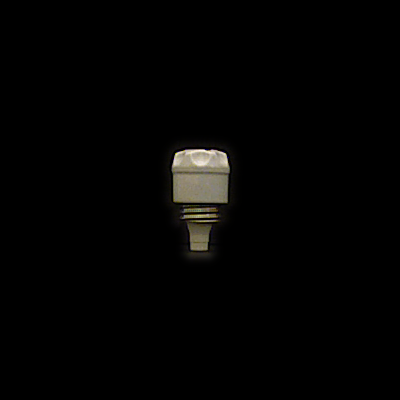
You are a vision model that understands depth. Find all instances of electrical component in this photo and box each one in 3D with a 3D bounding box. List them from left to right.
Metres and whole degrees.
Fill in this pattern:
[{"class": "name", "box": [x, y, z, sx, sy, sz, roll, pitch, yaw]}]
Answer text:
[{"class": "electrical component", "box": [0.000, 0.000, 0.654, 0.035, 0.061, 0.035, 1, 2, 0]}]
